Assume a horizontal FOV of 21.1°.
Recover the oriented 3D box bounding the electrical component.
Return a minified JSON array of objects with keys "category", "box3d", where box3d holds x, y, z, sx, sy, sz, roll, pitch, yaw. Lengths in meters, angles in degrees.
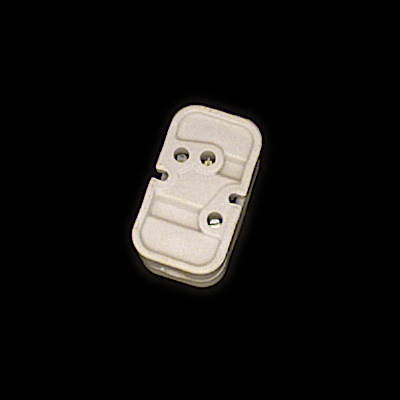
[{"category":"electrical component","box3d":[0.000,0.000,0.635,0.053,0.096,0.059,17,-15,5]}]
